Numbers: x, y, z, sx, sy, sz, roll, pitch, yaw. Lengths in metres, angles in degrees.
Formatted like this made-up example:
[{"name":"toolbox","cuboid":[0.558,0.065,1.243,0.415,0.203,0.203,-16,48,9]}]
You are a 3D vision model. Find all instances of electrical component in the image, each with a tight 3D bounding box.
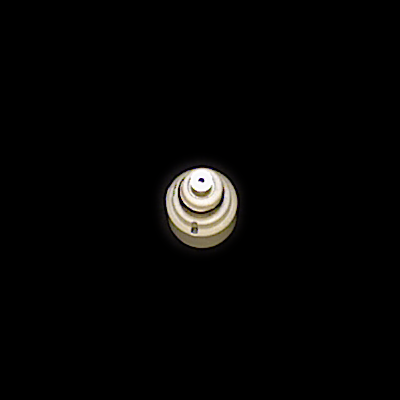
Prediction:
[{"name":"electrical component","cuboid":[0.000,0.000,0.618,0.040,0.040,0.078,0,-16,0]}]
